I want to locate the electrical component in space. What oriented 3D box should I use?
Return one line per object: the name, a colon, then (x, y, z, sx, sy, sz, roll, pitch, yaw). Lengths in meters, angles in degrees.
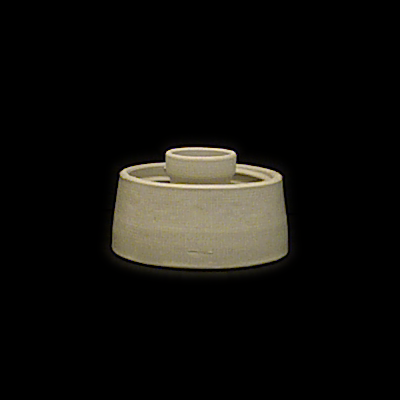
electrical component: (0.000, 0.000, 0.652, 0.108, 0.061, 0.107, 1, 11, 0)
